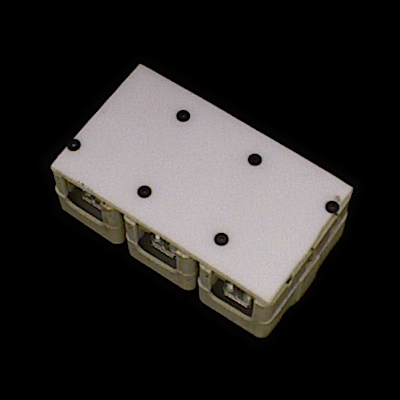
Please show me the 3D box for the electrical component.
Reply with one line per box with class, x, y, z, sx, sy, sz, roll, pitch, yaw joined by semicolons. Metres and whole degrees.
electrical component;0.000;0.000;0.631;0.149;0.089;0.062;32;-23;15
